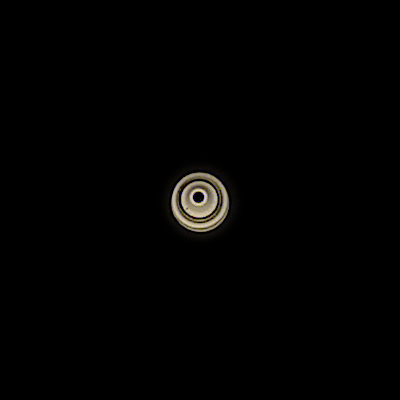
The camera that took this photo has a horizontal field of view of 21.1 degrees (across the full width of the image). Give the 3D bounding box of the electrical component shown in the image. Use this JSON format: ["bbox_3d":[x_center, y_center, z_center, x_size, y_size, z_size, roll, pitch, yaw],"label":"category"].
[{"bbox_3d":[0.000,0.000,0.638,0.035,0.035,0.061,0,-4,1],"label":"electrical component"}]
